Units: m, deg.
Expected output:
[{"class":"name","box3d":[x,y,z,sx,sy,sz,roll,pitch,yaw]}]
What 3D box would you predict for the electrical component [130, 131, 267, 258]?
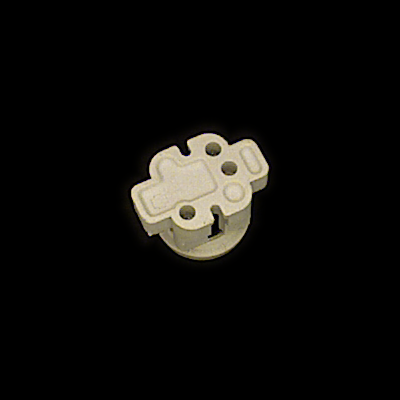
[{"class":"electrical component","box3d":[0.000,0.000,0.635,0.079,0.057,0.056,-24,-23,-10]}]
